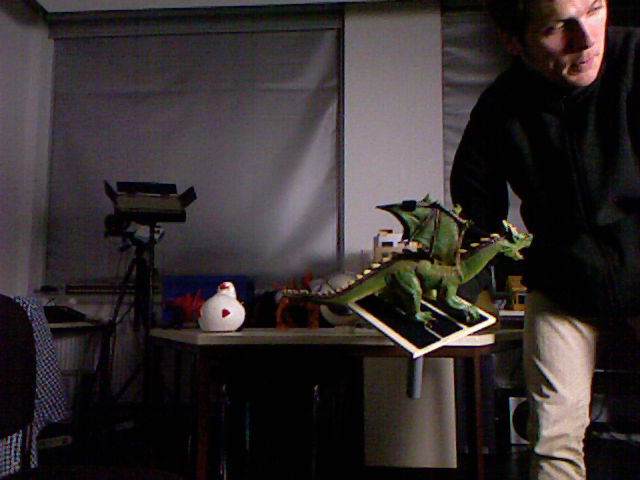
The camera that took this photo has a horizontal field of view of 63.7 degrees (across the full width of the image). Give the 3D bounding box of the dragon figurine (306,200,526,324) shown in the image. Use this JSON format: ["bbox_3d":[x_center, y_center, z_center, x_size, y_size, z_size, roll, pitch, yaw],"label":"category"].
[{"bbox_3d":[0.177,0.030,0.952,0.411,0.238,0.125,-1,29,-2],"label":"dragon figurine"}]
